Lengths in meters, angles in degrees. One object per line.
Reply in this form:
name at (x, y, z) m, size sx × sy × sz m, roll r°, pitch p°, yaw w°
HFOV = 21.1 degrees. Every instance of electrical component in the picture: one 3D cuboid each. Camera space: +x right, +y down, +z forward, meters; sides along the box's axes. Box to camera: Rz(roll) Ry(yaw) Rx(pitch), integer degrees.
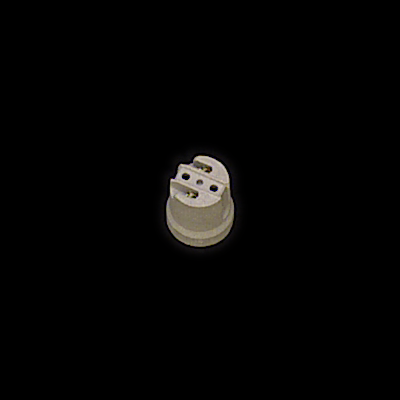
electrical component at (0.000, 0.000, 0.633) m, size 0.040 × 0.040 × 0.046 m, roll 0°, pitch -27°, yaw -1°
